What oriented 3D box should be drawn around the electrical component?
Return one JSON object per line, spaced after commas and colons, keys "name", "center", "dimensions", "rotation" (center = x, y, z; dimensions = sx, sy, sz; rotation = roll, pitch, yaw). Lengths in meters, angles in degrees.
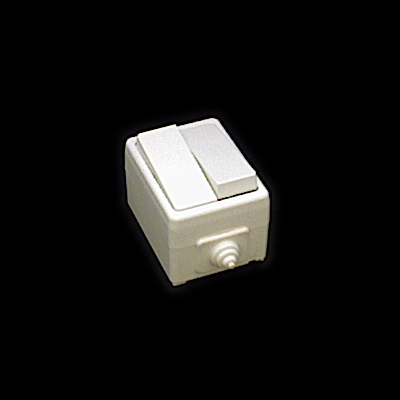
{"name": "electrical component", "center": [0.000, 0.000, 0.629], "dimensions": [0.062, 0.061, 0.095], "rotation": [-15, 44, -17]}
